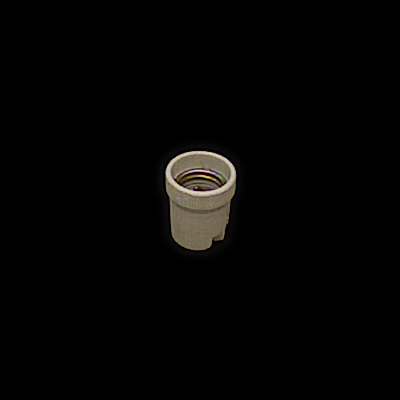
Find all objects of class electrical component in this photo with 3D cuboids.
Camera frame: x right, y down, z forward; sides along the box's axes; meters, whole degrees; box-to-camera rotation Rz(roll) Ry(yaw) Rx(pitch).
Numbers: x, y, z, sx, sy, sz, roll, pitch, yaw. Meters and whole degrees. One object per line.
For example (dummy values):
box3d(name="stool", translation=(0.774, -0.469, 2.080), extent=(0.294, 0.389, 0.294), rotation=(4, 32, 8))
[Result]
box3d(name="electrical component", translation=(0.000, 0.000, 0.632), extent=(0.040, 0.047, 0.039), rotation=(1, 42, 0))
